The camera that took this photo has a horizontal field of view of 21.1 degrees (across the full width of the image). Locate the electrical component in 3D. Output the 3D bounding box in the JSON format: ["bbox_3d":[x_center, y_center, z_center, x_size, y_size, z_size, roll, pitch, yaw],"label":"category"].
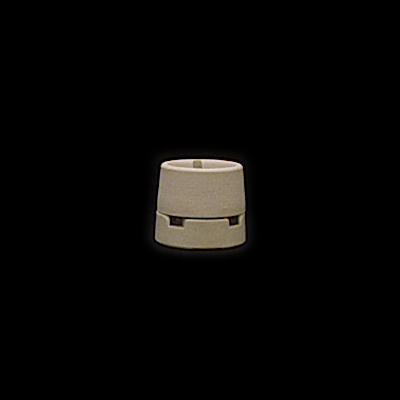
[{"bbox_3d":[0.000,0.000,0.647,0.055,0.047,0.055,1,10,0],"label":"electrical component"}]
